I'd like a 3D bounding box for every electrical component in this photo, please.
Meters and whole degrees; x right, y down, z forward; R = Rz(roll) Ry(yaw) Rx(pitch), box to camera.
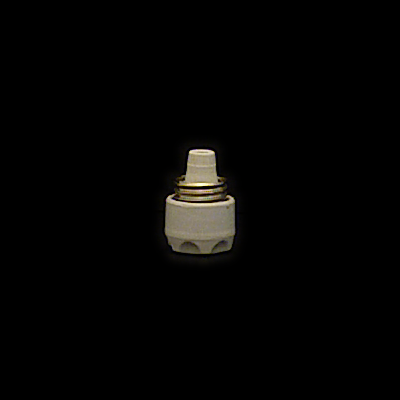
[{"bbox_3d":[0.000,0.000,0.650,0.043,0.062,0.043,1,13,0],"label":"electrical component"}]
